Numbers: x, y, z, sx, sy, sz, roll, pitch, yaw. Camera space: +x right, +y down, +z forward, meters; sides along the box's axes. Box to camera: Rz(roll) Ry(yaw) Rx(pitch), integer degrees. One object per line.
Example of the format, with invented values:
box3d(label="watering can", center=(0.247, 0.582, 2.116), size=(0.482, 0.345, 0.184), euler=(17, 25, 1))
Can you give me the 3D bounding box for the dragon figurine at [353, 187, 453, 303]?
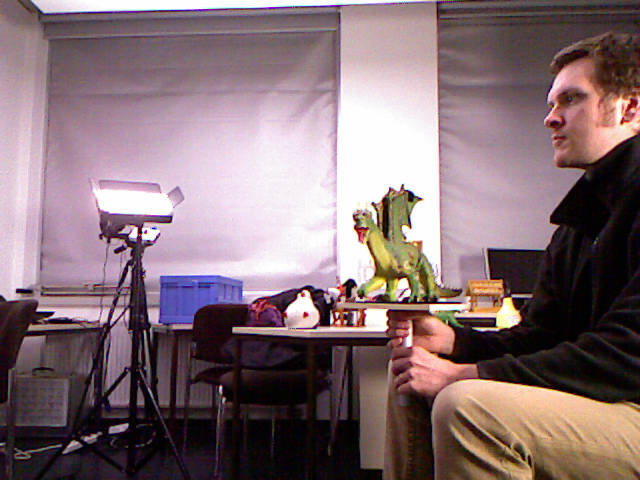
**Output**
box3d(label="dragon figurine", center=(0.185, 0.007, 1.086), size=(0.122, 0.244, 0.410), euler=(-2, -4, 36))
